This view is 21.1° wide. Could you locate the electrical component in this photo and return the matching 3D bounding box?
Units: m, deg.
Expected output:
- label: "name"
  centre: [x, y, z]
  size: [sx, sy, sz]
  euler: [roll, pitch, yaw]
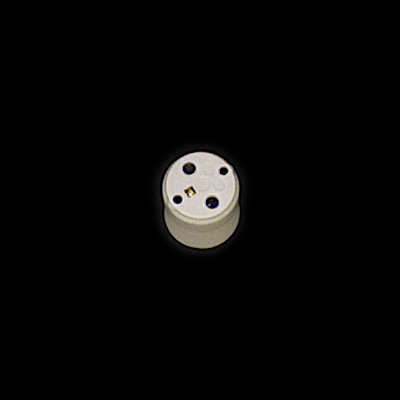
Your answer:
- label: "electrical component"
  centre: [0.000, 0.000, 0.629]
  size: [0.045, 0.045, 0.055]
  euler: [0, -17, 0]
